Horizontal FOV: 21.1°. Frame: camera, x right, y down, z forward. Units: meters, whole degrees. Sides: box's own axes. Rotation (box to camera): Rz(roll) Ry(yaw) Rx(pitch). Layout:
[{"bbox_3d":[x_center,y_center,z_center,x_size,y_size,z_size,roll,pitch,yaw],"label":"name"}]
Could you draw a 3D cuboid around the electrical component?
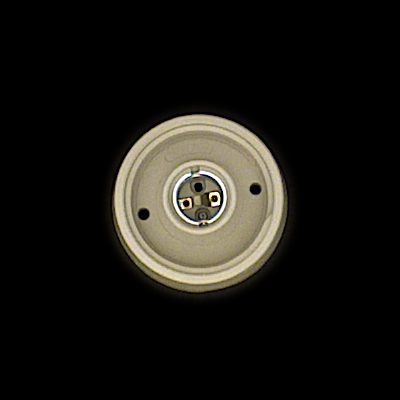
[{"bbox_3d":[0.000,0.000,0.634,0.108,0.108,0.060,0,-6,0],"label":"electrical component"}]
